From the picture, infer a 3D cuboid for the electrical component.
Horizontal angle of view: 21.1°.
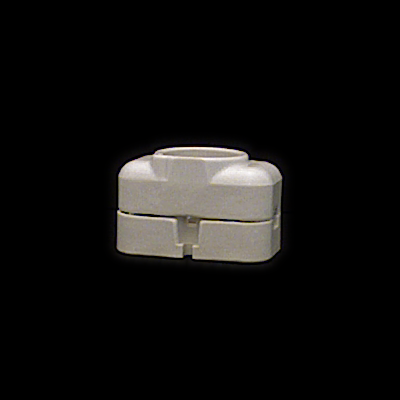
[{"bbox_3d":[0.000,0.000,0.649,0.095,0.060,0.053,4,12,14],"label":"electrical component"}]
